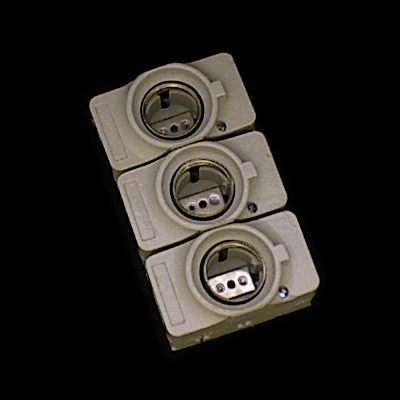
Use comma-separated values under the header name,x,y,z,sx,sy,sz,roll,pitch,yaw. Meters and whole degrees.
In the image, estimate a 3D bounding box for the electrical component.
name,x,y,z,sx,sy,sz,roll,pitch,yaw
electrical component,0.000,0.000,0.631,0.089,0.150,0.062,-19,-15,-6
